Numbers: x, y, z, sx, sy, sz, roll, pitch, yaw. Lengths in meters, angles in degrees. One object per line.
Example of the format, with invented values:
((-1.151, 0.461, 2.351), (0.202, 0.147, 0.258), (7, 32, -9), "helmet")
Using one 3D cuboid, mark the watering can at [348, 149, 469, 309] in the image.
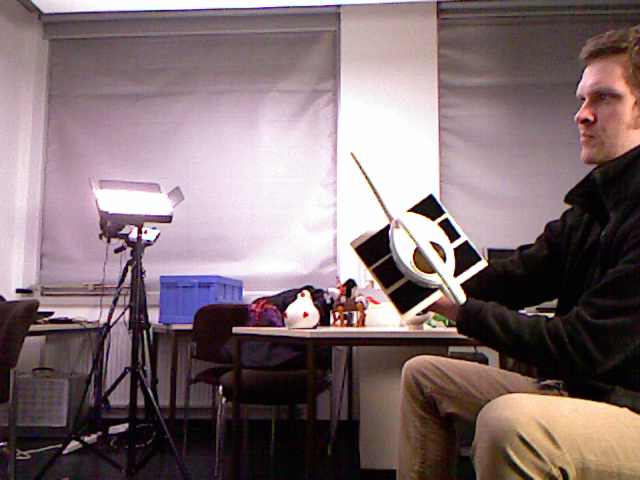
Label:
((0.166, -0.018, 0.992), (0.104, 0.351, 0.224), (-35, -7, 0), "watering can")
